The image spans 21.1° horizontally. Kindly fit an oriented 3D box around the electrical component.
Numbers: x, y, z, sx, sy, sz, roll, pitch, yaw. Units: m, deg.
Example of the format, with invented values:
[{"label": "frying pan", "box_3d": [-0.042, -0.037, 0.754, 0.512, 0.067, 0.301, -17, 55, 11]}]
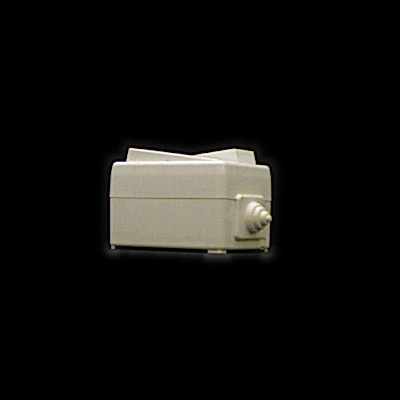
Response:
[{"label": "electrical component", "box_3d": [0.000, 0.000, 0.648, 0.096, 0.061, 0.062, 1, 0, 32]}]
